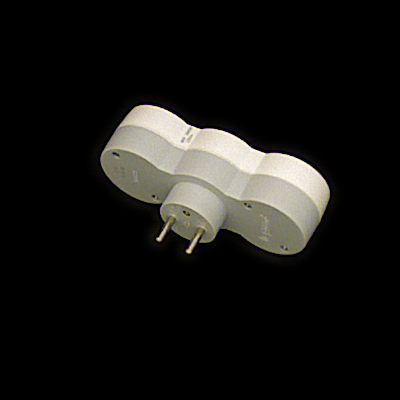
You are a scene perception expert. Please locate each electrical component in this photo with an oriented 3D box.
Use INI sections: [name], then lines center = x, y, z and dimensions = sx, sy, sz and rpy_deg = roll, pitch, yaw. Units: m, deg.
[electrical component]
center = 0.000, 0.000, 0.637
dimensions = 0.137, 0.074, 0.052
rpy_deg = 22, -33, 15
